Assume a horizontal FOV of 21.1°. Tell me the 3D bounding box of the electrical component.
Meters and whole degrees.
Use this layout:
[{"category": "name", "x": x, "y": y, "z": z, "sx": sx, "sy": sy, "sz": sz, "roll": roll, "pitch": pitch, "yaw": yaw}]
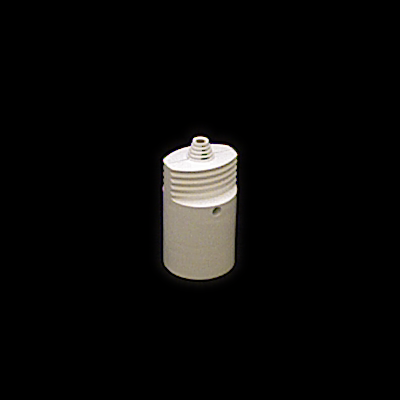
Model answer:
[{"category": "electrical component", "x": 0.000, "y": 0.000, "z": 0.628, "sx": 0.043, "sy": 0.082, "sz": 0.042, "roll": 1, "pitch": 31, "yaw": 0}]
